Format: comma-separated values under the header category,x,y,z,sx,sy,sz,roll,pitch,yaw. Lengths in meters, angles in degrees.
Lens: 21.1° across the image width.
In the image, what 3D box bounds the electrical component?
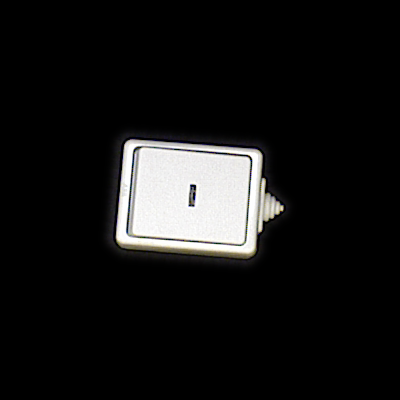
category,x,y,z,sx,sy,sz,roll,pitch,yaw
electrical component,0.000,0.000,0.627,0.096,0.062,0.061,4,-7,1
